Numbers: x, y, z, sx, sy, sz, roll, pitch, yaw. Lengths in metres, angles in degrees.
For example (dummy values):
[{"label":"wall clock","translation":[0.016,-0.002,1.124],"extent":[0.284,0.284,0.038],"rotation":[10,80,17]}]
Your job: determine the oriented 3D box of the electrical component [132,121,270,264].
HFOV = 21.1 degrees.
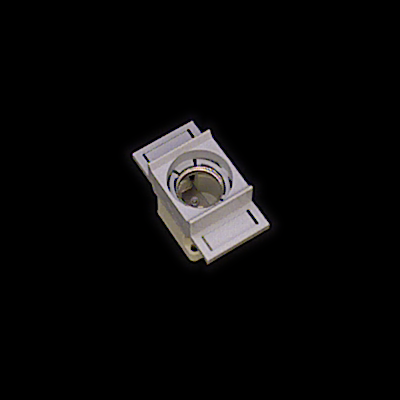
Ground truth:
[{"label":"electrical component","translation":[0.000,0.000,0.625],"extent":[0.042,0.080,0.064],"rotation":[-30,-23,-13]}]
